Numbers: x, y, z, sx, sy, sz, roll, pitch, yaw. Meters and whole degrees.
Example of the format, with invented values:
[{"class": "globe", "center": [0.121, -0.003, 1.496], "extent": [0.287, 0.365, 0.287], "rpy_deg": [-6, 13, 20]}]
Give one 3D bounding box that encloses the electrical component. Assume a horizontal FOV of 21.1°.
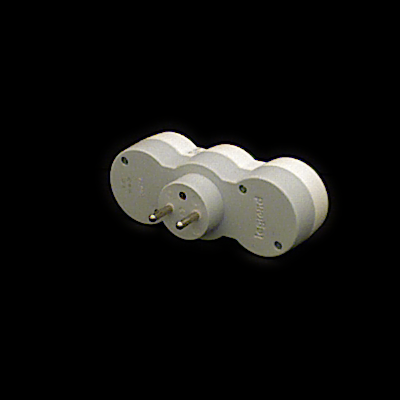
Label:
[{"class": "electrical component", "center": [0.000, 0.000, 0.645], "extent": [0.136, 0.053, 0.074], "rpy_deg": [15, 27, 30]}]
